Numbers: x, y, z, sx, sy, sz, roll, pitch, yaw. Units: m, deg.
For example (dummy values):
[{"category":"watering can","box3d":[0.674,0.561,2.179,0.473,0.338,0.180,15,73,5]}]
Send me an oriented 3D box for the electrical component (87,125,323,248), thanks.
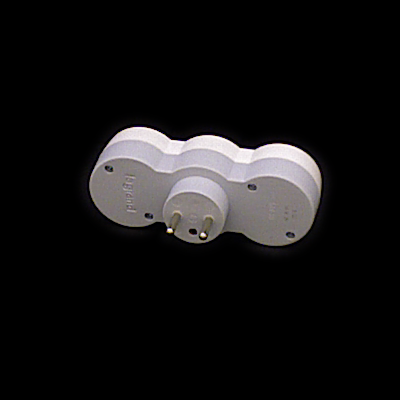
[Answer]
[{"category":"electrical component","box3d":[0.000,0.000,0.637,0.138,0.053,0.073,8,34,9]}]
